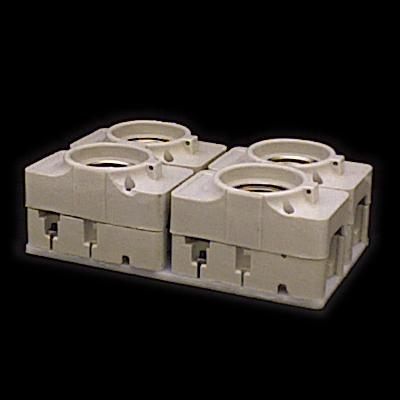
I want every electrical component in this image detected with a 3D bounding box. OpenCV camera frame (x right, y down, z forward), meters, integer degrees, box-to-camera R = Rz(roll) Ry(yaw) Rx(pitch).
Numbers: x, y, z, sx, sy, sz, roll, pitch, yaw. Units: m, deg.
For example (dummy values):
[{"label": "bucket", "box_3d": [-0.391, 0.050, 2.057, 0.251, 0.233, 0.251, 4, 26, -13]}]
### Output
[{"label": "electrical component", "box_3d": [0.000, 0.000, 0.639, 0.185, 0.061, 0.104, 9, 22, 20]}]
